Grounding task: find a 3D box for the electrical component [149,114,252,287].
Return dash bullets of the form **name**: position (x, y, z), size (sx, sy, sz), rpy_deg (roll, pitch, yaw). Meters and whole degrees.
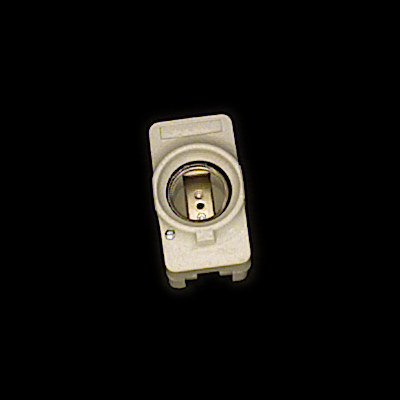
- **electrical component**: position (0.000, 0.000, 0.636), size (0.050, 0.090, 0.055), rpy_deg (-8, -16, -2)
